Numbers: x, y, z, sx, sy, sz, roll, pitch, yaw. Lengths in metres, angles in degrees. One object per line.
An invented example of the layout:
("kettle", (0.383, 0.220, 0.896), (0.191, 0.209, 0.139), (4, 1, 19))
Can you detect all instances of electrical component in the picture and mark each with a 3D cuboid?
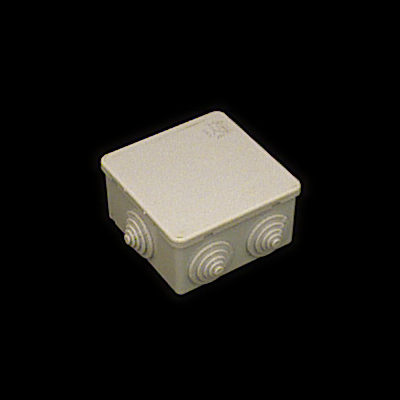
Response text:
("electrical component", (0.000, 0.000, 0.643), (0.100, 0.049, 0.098), (-24, 48, -25))
